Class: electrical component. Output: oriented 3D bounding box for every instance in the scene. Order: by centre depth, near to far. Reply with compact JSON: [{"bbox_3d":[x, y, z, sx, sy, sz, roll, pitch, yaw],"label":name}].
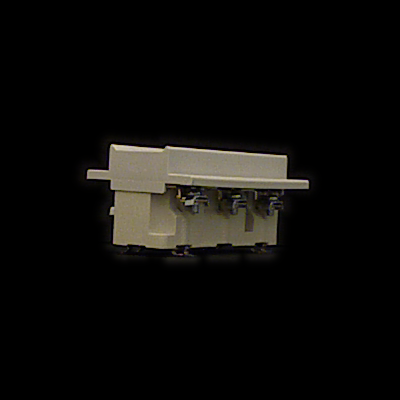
[{"bbox_3d":[0.000,0.000,0.663,0.078,0.063,0.122,4,2,38],"label":"electrical component"}]
